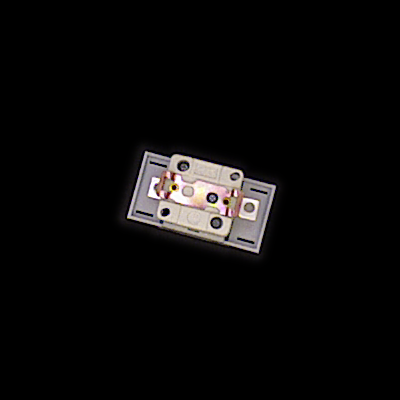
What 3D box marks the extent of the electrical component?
[{"bbox_3d":[0.000,0.000,0.626,0.081,0.042,0.063,14,-6,2],"label":"electrical component"}]
